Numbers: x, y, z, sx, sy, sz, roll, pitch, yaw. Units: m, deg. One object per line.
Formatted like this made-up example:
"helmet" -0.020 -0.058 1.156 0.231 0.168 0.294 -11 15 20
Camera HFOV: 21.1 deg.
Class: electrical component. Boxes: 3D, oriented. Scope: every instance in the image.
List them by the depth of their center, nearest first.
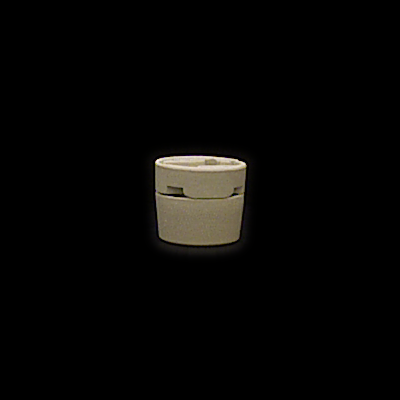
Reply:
"electrical component" 0.000 0.000 0.647 0.055 0.047 0.055 1 11 0
